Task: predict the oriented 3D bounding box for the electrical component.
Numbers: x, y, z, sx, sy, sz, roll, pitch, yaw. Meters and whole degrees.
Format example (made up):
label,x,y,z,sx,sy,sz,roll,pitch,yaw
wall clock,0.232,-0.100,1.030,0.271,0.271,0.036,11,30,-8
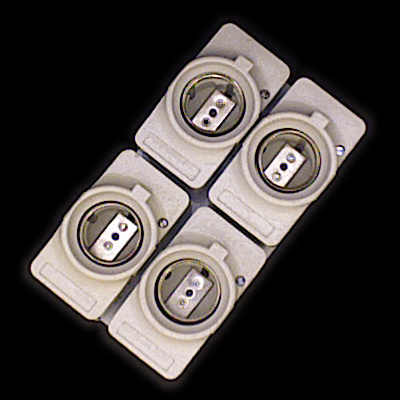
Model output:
label,x,y,z,sx,sy,sz,roll,pitch,yaw
electrical component,0.000,0.000,0.626,0.105,0.187,0.060,37,-6,4
